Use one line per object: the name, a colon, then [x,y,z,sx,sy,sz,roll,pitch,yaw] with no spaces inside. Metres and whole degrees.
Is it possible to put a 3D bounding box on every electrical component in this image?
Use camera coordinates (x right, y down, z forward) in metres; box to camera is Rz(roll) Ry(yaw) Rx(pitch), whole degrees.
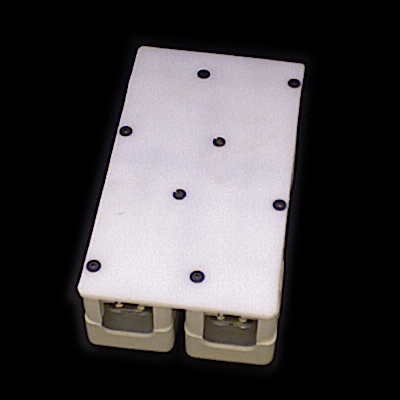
electrical component: [0.000,0.000,0.627,0.105,0.185,0.060,6,-37,5]
